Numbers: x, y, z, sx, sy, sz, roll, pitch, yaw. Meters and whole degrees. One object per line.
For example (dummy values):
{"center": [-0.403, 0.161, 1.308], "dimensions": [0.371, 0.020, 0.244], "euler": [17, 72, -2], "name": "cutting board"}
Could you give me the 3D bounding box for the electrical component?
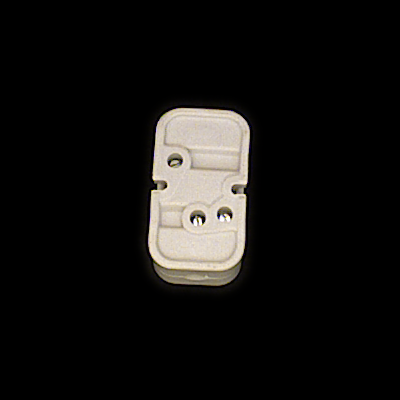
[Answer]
{"center": [0.000, 0.000, 0.636], "dimensions": [0.054, 0.095, 0.059], "euler": [3, -16, 1], "name": "electrical component"}
